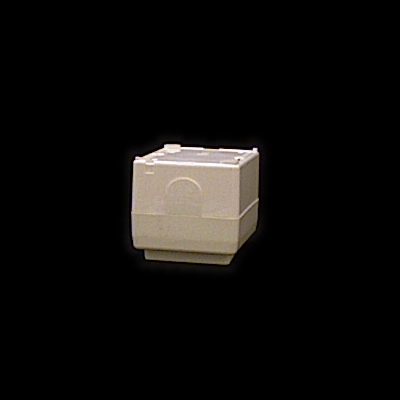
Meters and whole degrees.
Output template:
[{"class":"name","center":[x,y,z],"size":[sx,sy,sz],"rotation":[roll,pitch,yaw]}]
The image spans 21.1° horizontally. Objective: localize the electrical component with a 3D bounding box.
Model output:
[{"class":"electrical component","center":[0.000,0.000,0.646],"size":[0.062,0.061,0.095],"rotation":[3,10,11]}]
